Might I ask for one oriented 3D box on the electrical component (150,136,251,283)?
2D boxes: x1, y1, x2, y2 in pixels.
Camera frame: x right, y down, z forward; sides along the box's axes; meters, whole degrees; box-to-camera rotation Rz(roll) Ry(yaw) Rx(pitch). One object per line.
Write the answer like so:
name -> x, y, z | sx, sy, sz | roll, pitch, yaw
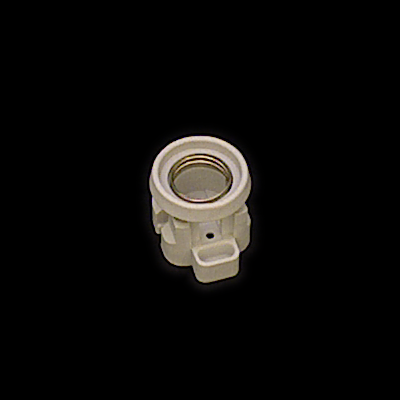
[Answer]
electrical component -> 0.000, 0.000, 0.630 | 0.058, 0.078, 0.057 | -14, -36, -11
